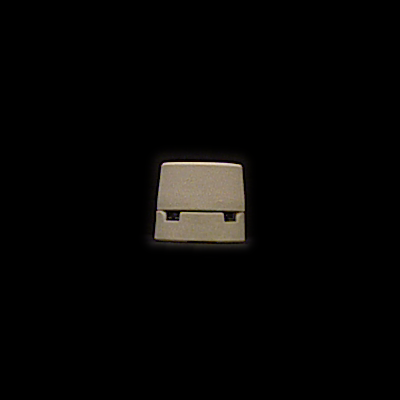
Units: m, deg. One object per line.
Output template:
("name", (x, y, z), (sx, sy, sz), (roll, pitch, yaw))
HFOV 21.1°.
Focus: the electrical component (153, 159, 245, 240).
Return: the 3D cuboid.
("electrical component", (0.000, 0.000, 0.652), (0.055, 0.047, 0.055), (2, 0, 0))
